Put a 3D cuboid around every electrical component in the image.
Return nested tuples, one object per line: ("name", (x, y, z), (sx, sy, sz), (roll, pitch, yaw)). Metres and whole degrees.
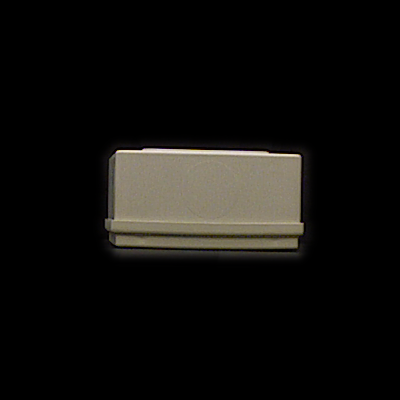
("electrical component", (0.000, 0.000, 0.646), (0.109, 0.056, 0.108), (1, 0, -7))
